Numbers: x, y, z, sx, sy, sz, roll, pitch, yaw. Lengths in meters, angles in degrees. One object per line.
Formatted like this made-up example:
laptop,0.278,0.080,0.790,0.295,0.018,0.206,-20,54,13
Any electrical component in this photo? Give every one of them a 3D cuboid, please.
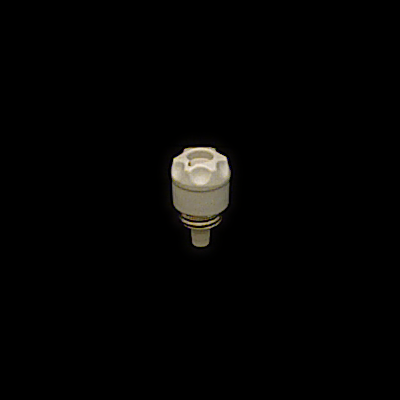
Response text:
electrical component,0.000,0.000,0.640,0.035,0.062,0.035,0,32,0
